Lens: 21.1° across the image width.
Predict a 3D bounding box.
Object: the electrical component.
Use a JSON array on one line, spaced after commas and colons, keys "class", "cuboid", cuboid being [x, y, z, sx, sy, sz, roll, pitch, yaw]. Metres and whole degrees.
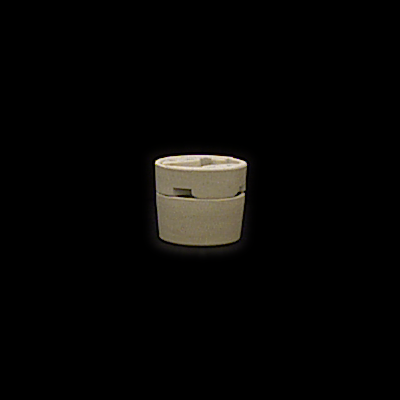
[{"class": "electrical component", "cuboid": [0.000, 0.000, 0.644, 0.055, 0.047, 0.055, 1, 10, 0]}]
